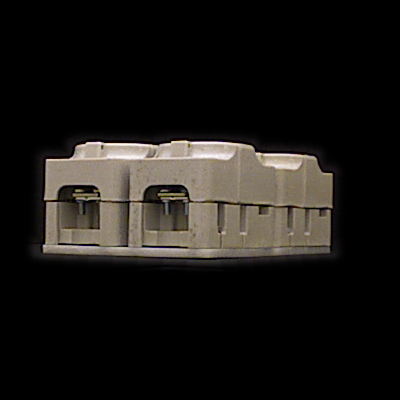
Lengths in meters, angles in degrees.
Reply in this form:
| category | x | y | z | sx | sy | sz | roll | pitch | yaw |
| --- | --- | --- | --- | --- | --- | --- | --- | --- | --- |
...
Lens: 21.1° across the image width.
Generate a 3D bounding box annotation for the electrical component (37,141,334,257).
| category | x | y | z | sx | sy | sz | roll | pitch | yaw |
| --- | --- | --- | --- | --- | --- | --- | --- | --- | --- |
| electrical component | 0.000 | 0.000 | 0.649 | 0.105 | 0.060 | 0.186 | 1 | 0 | 27 |
